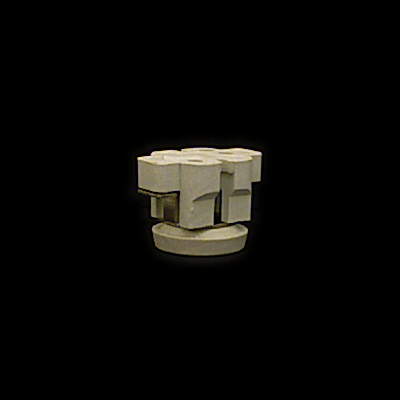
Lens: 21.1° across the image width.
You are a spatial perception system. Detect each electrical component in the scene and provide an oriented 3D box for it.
[{"bbox_3d":[0.000,0.000,0.649,0.079,0.057,0.057,-9,16,-37],"label":"electrical component"}]
